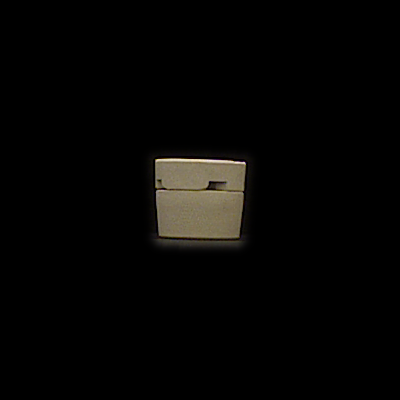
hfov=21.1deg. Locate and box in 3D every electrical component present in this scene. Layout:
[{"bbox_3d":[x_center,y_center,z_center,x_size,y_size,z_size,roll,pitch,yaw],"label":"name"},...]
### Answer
[{"bbox_3d":[0.000,0.000,0.651,0.055,0.047,0.055,1,1,0],"label":"electrical component"}]
